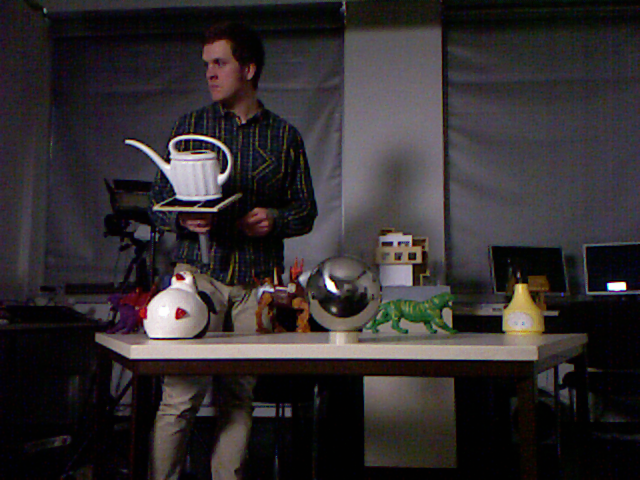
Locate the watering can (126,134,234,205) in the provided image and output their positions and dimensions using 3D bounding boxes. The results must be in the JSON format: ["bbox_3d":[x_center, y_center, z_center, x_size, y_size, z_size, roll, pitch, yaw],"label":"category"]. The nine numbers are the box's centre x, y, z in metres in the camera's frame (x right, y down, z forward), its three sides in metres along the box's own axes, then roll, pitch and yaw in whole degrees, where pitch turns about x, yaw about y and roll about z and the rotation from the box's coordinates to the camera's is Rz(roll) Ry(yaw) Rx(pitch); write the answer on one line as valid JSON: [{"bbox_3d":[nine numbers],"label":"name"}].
[{"bbox_3d":[-0.429,-0.218,1.599,0.347,0.221,0.106,3,20,12],"label":"watering can"}]
